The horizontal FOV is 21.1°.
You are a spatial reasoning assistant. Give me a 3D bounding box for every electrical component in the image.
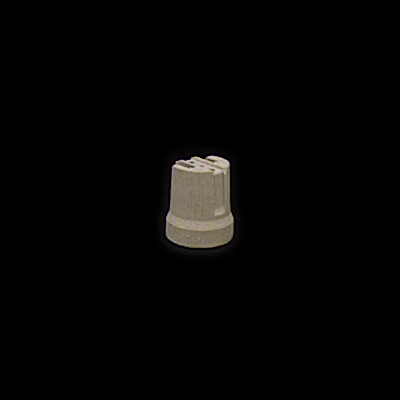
[{"bbox_3d":[0.000,0.000,0.643,0.040,0.046,0.040,2,21,0],"label":"electrical component"}]
